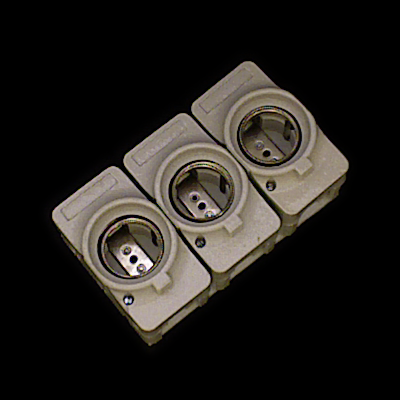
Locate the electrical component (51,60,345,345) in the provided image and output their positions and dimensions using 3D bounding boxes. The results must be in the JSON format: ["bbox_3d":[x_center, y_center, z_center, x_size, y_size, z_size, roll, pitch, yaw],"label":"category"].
[{"bbox_3d":[0.000,0.000,0.631,0.150,0.089,0.062,-39,-13,-10],"label":"electrical component"}]
